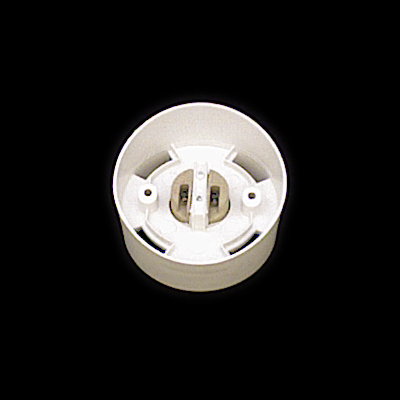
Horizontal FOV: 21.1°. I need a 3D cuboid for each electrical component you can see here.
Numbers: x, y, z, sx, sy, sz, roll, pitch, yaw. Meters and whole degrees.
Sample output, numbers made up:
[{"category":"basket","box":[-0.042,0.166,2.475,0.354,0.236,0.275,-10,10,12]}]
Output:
[{"category":"electrical component","box":[0.000,0.000,0.626,0.099,0.098,0.064,0,-38,0]}]
